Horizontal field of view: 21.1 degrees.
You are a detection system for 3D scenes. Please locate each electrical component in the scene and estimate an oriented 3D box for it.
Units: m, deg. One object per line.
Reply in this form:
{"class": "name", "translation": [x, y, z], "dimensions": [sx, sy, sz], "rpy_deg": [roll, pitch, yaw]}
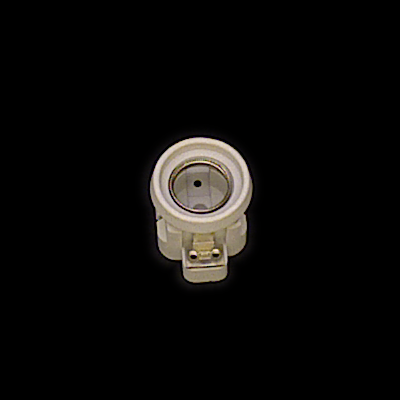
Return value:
{"class": "electrical component", "translation": [0.000, 0.000, 0.627], "dimensions": [0.058, 0.078, 0.056], "rpy_deg": [-4, -27, -2]}
